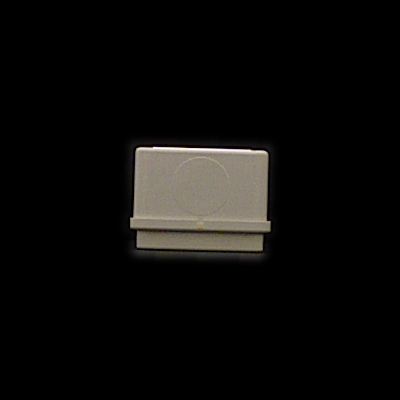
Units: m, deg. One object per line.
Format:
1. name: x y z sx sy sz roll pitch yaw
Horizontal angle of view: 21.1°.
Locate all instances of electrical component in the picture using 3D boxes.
1. electrical component: 0.000 0.000 0.649 0.078 0.057 0.113 1 1 0
